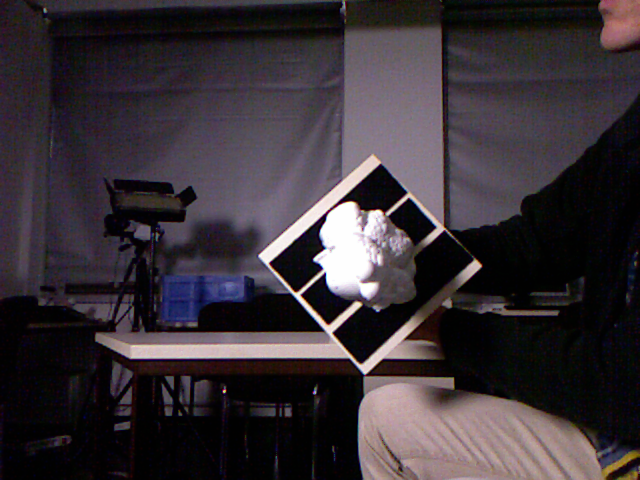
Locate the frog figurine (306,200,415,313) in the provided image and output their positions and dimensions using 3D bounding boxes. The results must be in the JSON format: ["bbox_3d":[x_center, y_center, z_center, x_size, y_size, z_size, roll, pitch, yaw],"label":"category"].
[{"bbox_3d":[0.053,0.015,0.583,0.124,0.139,0.158,-30,-7,-8],"label":"frog figurine"}]
